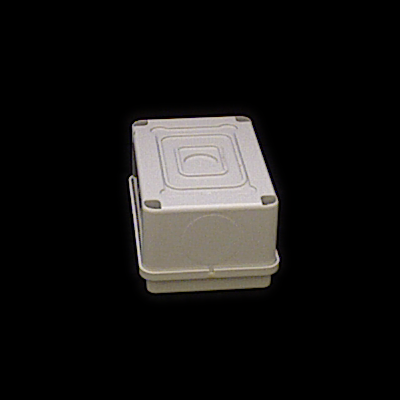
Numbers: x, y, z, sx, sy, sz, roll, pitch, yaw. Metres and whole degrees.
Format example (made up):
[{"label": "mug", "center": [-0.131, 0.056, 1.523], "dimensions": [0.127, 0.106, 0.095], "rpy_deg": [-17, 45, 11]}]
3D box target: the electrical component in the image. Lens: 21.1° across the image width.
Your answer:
[{"label": "electrical component", "center": [0.000, 0.000, 0.635], "dimensions": [0.078, 0.058, 0.111], "rpy_deg": [-3, 32, -6]}]
